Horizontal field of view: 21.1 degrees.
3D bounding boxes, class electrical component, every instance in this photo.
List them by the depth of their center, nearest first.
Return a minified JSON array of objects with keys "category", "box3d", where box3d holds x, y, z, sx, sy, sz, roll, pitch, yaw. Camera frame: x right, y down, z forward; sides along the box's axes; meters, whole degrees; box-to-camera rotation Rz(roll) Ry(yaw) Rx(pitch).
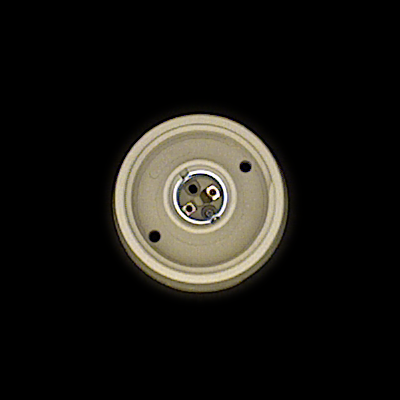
[{"category":"electrical component","box3d":[0.000,0.000,0.635,0.108,0.108,0.060,0,-6,0]}]
